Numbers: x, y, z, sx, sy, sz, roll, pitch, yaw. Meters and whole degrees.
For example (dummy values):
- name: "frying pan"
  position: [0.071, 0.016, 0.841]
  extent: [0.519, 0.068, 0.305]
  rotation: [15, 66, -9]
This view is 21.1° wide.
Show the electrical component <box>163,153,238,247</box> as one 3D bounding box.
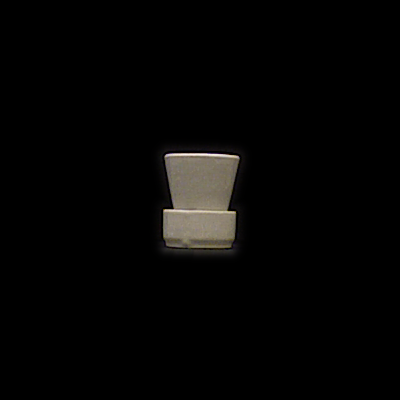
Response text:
- name: "electrical component"
  position: [0.000, 0.000, 0.651]
  extent: [0.045, 0.055, 0.044]
  rotation: [2, 2, 0]
